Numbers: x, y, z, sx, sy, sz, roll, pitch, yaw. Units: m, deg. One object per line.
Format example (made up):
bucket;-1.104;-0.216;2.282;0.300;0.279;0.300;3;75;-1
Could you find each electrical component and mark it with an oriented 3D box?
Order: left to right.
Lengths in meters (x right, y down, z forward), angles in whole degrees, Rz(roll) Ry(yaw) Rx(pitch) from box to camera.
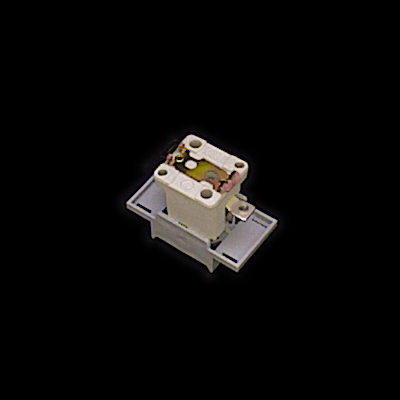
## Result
electrical component;0.000;0.000;0.627;0.080;0.042;0.064;29;-32;20
